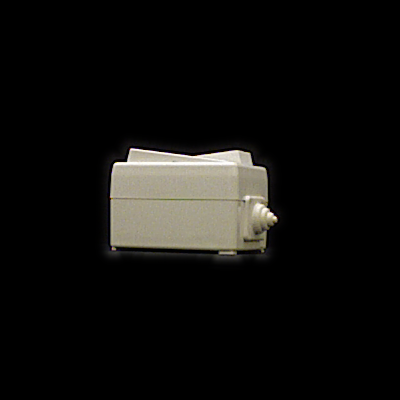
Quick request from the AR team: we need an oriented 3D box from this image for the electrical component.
[{"bbox_3d":[0.000,0.000,0.649,0.096,0.061,0.061,1,0,22],"label":"electrical component"}]
